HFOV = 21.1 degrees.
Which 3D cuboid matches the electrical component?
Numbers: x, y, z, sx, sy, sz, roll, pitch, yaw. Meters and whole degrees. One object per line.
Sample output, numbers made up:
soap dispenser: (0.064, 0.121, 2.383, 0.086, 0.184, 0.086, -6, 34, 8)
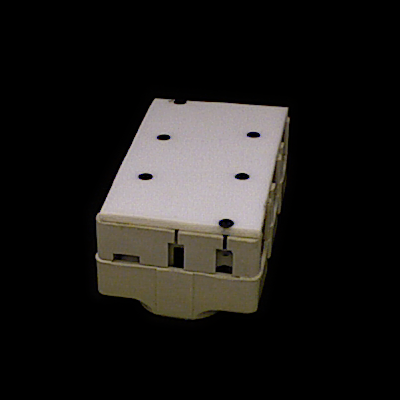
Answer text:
electrical component: (0.000, 0.000, 0.638, 0.089, 0.063, 0.147, 6, 32, 9)
